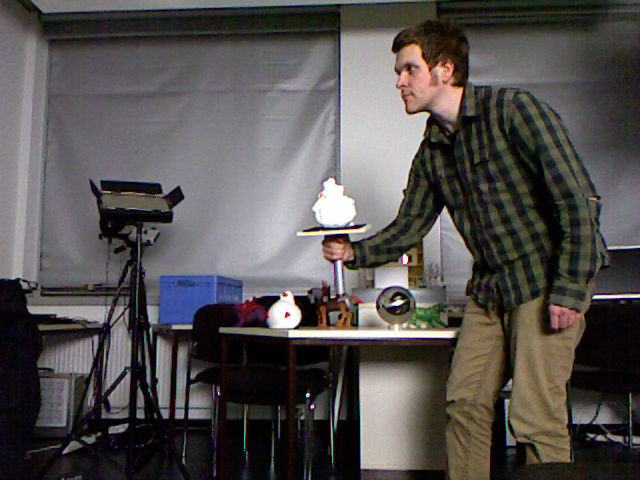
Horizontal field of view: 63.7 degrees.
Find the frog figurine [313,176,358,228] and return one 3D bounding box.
[{"bbox_3d":[0.046,-0.116,1.587,0.137,0.159,0.124,-2,10,31],"label":"frog figurine"}]
